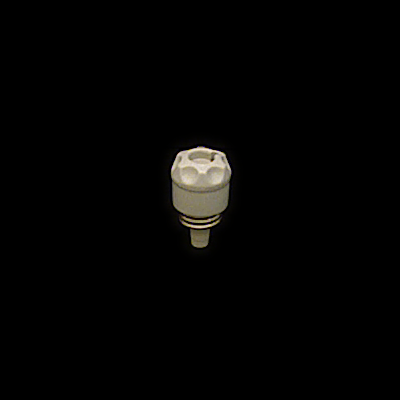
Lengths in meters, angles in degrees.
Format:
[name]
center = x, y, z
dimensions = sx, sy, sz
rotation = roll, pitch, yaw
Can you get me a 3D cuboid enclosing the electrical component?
[electrical component]
center = 0.000, 0.000, 0.641
dimensions = 0.035, 0.062, 0.034
rotation = 1, 33, 0
